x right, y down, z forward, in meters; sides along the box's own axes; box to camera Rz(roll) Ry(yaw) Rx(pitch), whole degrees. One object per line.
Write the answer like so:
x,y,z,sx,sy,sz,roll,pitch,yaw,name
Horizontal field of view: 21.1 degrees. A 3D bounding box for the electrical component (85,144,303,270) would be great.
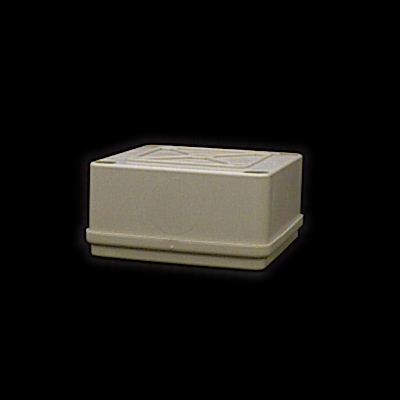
0.000,0.000,0.647,0.108,0.056,0.108,5,10,15,electrical component
